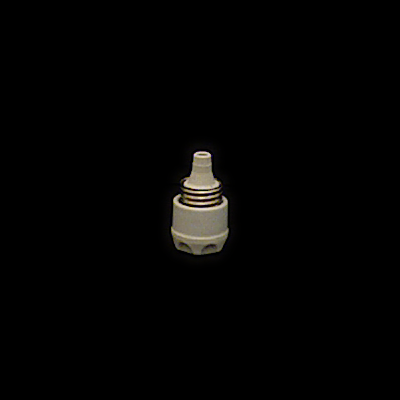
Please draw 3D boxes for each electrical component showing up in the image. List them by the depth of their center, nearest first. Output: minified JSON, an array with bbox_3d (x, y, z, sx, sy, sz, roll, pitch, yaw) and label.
[{"bbox_3d":[0.000,0.000,0.652,0.035,0.062,0.034,2,22,-1],"label":"electrical component"}]
